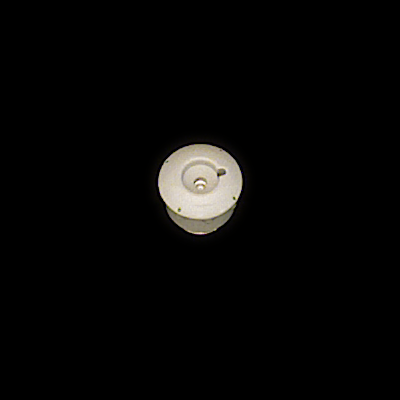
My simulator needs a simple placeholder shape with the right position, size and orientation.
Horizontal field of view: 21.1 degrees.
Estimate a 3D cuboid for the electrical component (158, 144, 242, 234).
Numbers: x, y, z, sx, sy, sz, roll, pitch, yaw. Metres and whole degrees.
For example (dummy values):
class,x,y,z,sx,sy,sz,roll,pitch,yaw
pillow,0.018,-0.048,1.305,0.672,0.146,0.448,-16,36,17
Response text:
class,x,y,z,sx,sy,sz,roll,pitch,yaw
electrical component,0.000,0.000,0.634,0.048,0.048,0.062,0,-26,0
